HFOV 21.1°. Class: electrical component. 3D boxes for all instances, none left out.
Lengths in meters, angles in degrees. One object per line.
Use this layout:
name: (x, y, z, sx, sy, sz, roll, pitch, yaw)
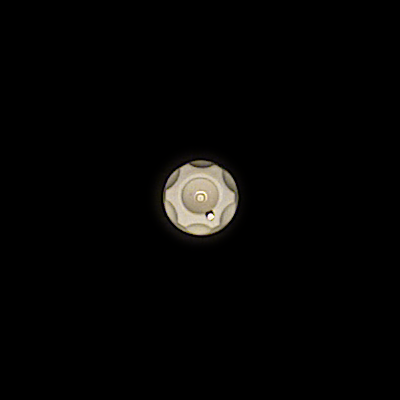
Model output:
electrical component: (0.000, 0.000, 0.635, 0.043, 0.043, 0.062, 0, -6, 2)
